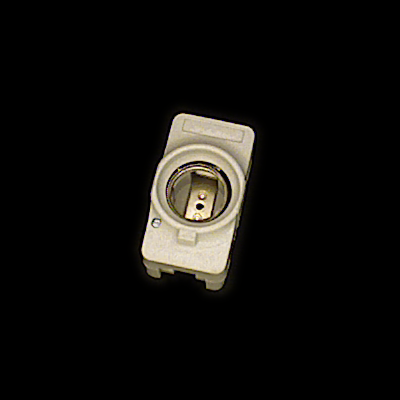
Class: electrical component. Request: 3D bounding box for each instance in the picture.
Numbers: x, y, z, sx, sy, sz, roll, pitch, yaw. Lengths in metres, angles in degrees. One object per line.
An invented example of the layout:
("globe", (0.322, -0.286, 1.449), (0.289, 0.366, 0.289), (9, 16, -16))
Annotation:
("electrical component", (0.000, 0.000, 0.636), (0.050, 0.090, 0.055), (12, -16, 4))
